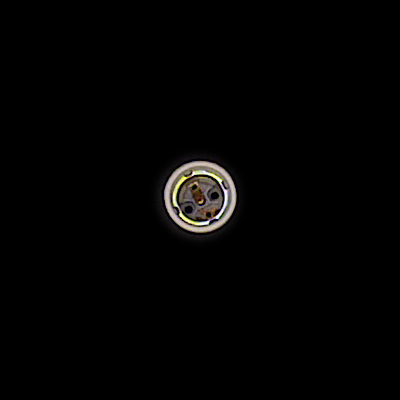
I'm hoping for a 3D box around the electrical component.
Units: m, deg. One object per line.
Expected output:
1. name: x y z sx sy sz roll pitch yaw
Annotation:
1. electrical component: 0.000 0.000 0.627 0.040 0.040 0.046 0 -6 0
